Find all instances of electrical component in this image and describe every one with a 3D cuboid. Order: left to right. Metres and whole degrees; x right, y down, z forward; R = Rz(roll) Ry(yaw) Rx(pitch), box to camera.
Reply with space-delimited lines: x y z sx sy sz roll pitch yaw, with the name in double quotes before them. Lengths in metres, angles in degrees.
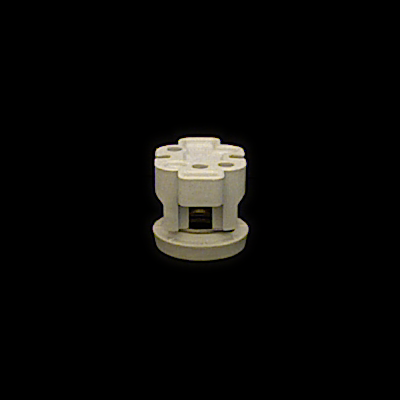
"electrical component" 0.000 0.000 0.648 0.058 0.057 0.077 -1 20 -2
